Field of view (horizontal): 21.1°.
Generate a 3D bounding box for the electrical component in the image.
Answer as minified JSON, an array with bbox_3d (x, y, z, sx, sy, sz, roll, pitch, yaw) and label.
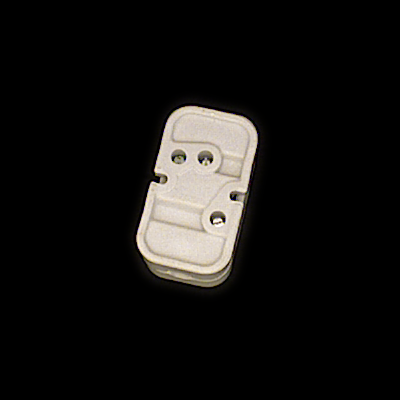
[{"bbox_3d":[0.000,0.000,0.635,0.053,0.095,0.059,13,-15,4],"label":"electrical component"}]
